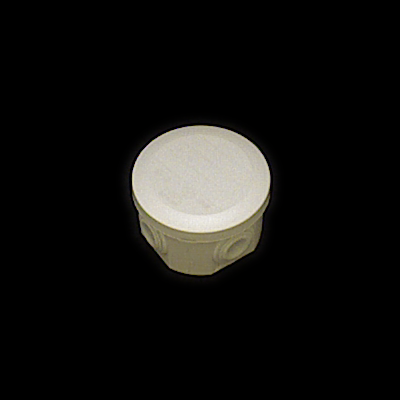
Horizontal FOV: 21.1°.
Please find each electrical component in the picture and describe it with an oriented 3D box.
[{"bbox_3d":[0.000,0.000,0.632,0.080,0.080,0.051,0,-38,0],"label":"electrical component"}]
